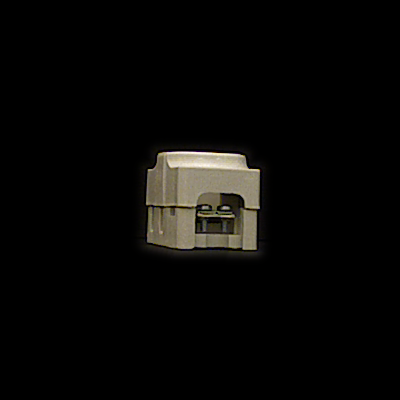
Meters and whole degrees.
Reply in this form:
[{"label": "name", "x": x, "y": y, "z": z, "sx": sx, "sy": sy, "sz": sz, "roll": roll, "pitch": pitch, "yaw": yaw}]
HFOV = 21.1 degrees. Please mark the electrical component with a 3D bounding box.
[{"label": "electrical component", "x": 0.000, "y": 0.000, "z": 0.657, "sx": 0.050, "sy": 0.056, "sz": 0.089, "roll": 1, "pitch": 1, "yaw": -16}]
